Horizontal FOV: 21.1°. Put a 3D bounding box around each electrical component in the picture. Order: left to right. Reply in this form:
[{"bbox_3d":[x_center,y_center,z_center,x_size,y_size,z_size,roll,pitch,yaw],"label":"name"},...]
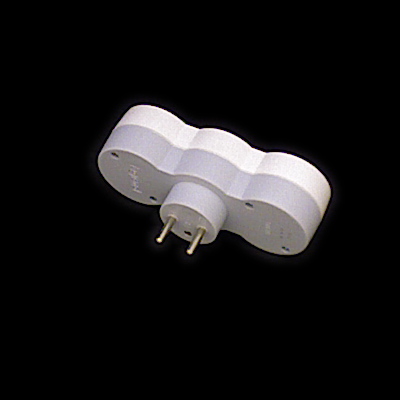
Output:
[{"bbox_3d":[0.000,0.000,0.631,0.138,0.073,0.052,21,-33,14],"label":"electrical component"}]
